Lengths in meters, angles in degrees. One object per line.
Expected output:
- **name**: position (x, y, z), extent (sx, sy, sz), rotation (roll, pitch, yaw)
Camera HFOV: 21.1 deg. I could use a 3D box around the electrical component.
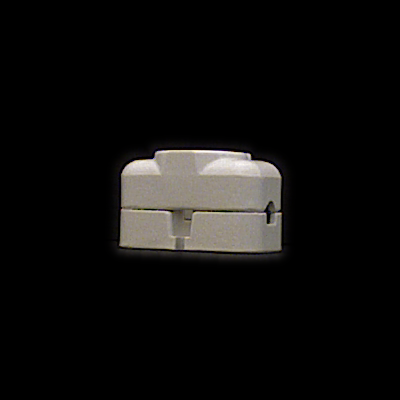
- **electrical component**: position (0.000, 0.000, 0.658), extent (0.094, 0.059, 0.054), rotation (2, 2, 26)
